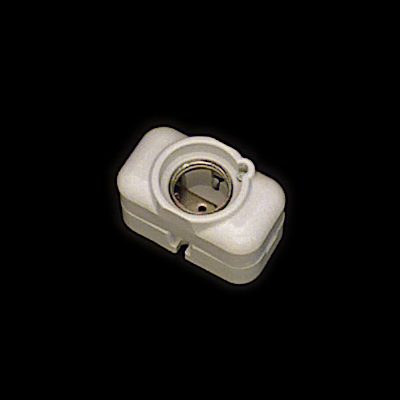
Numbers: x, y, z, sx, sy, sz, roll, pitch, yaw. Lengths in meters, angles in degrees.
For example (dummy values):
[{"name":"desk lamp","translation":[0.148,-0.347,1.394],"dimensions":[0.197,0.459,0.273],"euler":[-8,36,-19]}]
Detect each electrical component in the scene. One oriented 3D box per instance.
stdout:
[{"name":"electrical component","translation":[0.000,0.000,0.635],"dimensions":[0.095,0.054,0.059],"euler":[27,-23,12]}]
